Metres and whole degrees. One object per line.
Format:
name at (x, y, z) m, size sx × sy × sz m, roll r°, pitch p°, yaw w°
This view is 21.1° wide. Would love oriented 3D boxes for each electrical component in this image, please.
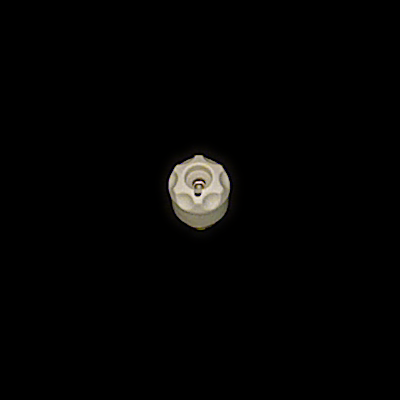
electrical component at (0.000, 0.000, 0.633) m, size 0.035 × 0.035 × 0.061 m, roll 0°, pitch -27°, yaw 1°
